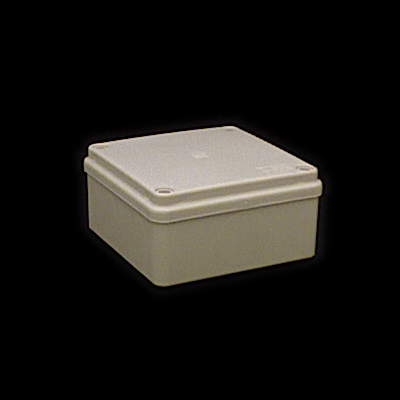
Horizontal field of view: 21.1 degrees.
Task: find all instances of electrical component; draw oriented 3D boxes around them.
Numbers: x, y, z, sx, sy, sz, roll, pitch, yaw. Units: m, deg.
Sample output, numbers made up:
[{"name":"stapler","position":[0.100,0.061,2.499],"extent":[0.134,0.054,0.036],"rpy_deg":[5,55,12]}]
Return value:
[{"name":"electrical component","position":[0.000,0.000,0.640],"extent":[0.109,0.057,0.107],"rpy_deg":[-10,23,-26]}]
